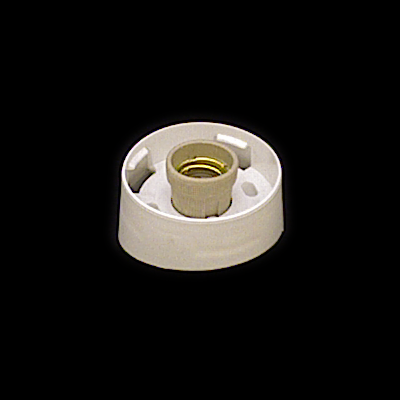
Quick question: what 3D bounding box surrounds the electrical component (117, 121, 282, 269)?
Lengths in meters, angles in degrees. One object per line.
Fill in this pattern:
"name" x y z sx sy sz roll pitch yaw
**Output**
"electrical component" 0.000 0.000 0.629 0.099 0.065 0.098 0 41 0
